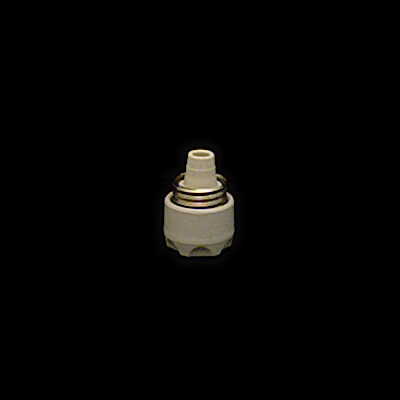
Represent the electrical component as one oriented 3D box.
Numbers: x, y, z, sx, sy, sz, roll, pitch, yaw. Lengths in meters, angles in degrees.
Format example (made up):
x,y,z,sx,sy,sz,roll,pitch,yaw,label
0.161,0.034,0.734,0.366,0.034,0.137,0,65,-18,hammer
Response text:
x,y,z,sx,sy,sz,roll,pitch,yaw,label
0.000,0.000,0.645,0.043,0.063,0.043,1,23,0,electrical component
